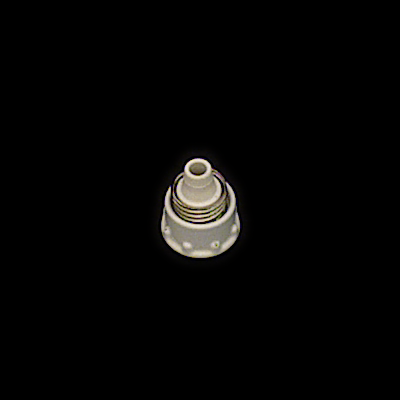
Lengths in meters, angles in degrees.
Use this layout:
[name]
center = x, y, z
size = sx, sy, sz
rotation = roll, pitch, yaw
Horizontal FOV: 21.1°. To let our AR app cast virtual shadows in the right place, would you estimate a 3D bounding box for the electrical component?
[electrical component]
center = 0.000, 0.000, 0.634
size = 0.048, 0.048, 0.062
rotation = 0, -38, 1
